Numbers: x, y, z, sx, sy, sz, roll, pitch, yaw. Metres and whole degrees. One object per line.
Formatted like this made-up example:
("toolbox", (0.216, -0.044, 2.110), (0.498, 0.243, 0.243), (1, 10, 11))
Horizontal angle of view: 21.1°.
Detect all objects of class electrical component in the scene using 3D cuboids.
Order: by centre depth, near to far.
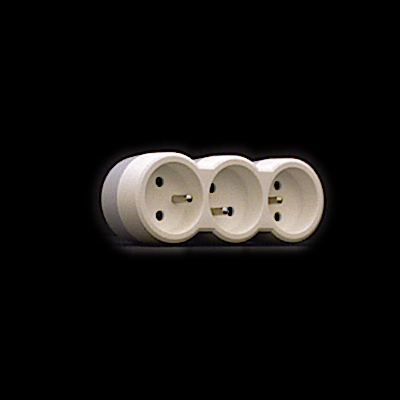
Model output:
("electrical component", (0.000, 0.000, 0.648), (0.139, 0.052, 0.073), (0, -1, -36))
